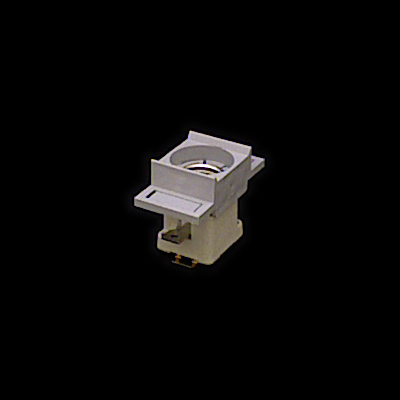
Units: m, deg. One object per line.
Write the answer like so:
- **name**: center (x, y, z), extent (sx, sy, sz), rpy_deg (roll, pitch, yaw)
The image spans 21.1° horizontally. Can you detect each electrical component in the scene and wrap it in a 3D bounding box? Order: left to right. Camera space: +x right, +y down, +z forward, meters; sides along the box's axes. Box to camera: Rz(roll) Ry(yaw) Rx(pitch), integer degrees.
- **electrical component**: center (0.000, 0.000, 0.630), extent (0.042, 0.064, 0.080), rpy_deg (18, 35, 25)
